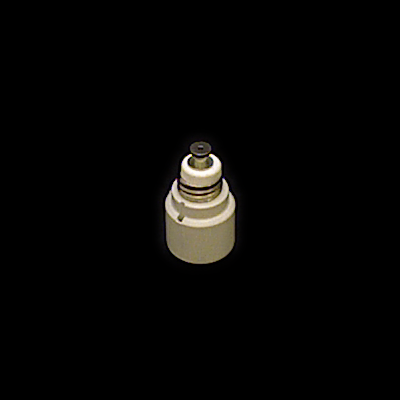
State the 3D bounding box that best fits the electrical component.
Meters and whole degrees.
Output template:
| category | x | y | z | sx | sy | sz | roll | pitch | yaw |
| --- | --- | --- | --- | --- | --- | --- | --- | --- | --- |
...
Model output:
| category | x | y | z | sx | sy | sz | roll | pitch | yaw |
| --- | --- | --- | --- | --- | --- | --- | --- | --- | --- |
| electrical component | 0.000 | 0.000 | 0.626 | 0.040 | 0.079 | 0.039 | 0 | 43 | 0 |
